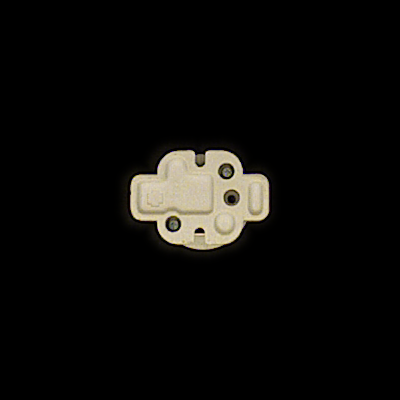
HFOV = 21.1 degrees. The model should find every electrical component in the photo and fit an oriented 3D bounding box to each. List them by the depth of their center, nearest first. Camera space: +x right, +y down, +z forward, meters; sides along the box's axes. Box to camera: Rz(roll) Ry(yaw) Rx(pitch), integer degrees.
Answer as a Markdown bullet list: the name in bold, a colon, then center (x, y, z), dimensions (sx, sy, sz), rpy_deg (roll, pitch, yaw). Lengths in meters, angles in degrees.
- **electrical component**: center (0.000, 0.000, 0.637), dimensions (0.078, 0.058, 0.057), rpy_deg (-1, -5, 2)
